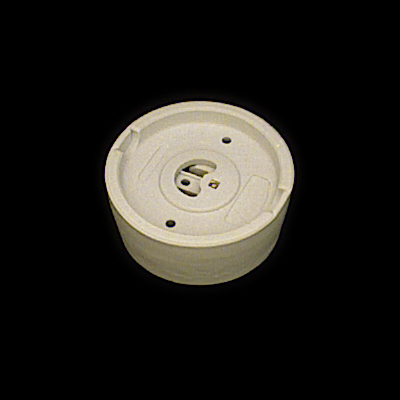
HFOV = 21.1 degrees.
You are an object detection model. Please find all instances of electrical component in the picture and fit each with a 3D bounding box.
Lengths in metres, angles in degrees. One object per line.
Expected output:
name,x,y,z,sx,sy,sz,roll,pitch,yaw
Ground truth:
electrical component,0.000,0.000,0.636,0.108,0.107,0.060,0,-37,0
